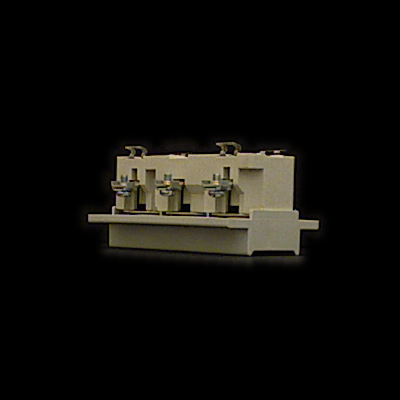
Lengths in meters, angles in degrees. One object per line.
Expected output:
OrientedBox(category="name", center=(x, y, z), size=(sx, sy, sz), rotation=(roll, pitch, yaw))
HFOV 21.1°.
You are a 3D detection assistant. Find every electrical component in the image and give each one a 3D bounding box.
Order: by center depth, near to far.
OrientedBox(category="electrical component", center=(0.000, 0.000, 0.660), size=(0.120, 0.063, 0.079), rotation=(2, 0, 45))
